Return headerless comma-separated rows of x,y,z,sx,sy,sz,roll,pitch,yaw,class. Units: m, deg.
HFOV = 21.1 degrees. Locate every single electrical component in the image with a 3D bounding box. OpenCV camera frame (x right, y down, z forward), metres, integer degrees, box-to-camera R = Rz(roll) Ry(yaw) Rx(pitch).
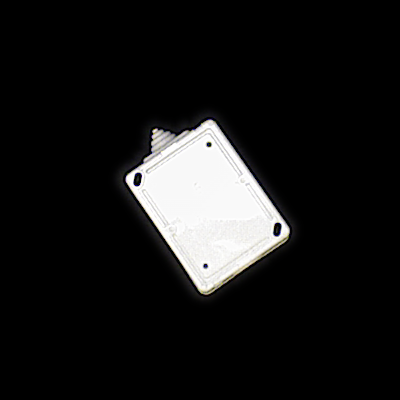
0.000,0.000,0.627,0.062,0.096,0.061,-34,-6,-3,electrical component
